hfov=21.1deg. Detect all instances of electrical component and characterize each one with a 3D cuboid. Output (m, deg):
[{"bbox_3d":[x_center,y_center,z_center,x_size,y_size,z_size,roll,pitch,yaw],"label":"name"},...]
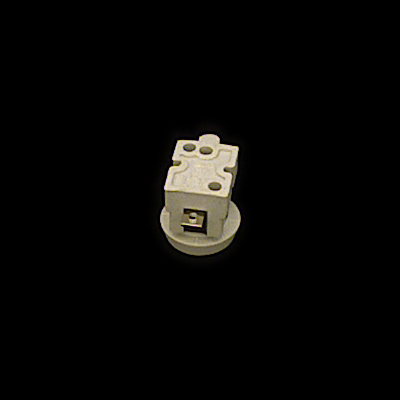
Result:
[{"bbox_3d":[0.000,0.000,0.641,0.048,0.056,0.066,8,44,6],"label":"electrical component"}]
